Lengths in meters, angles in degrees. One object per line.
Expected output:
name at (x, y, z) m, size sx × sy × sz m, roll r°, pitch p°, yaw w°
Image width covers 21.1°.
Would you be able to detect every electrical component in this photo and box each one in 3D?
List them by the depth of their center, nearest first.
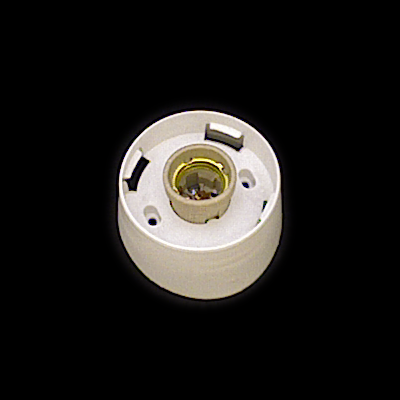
electrical component at (0.000, 0.000, 0.625) m, size 0.099 × 0.099 × 0.064 m, roll 0°, pitch -27°, yaw 0°
